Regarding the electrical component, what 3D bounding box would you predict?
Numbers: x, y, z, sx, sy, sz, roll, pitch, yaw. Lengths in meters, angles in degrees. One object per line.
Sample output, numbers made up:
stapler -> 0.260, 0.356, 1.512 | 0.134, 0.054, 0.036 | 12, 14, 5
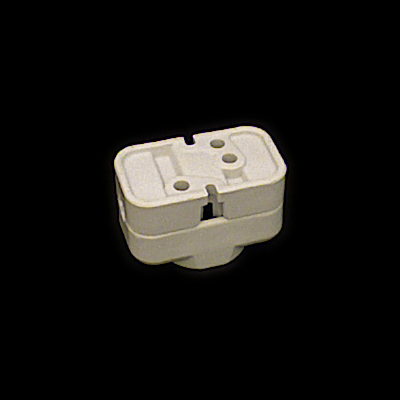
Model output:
electrical component -> 0.000, 0.000, 0.639 | 0.095, 0.060, 0.053 | -12, 44, -13
